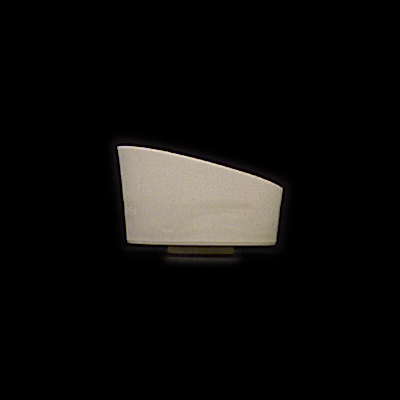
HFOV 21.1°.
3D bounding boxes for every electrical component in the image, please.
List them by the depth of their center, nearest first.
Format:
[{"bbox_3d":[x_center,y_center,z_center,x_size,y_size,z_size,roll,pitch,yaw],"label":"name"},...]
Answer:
[{"bbox_3d":[0.000,0.000,0.648,0.099,0.064,0.099,1,0,0],"label":"electrical component"}]
